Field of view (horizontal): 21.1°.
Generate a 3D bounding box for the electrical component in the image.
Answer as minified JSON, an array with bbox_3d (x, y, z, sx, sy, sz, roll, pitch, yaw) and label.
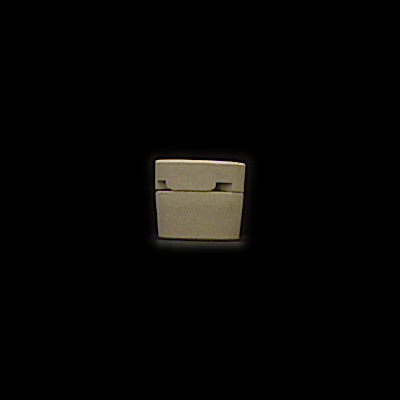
[{"bbox_3d":[0.000,0.000,0.651,0.055,0.047,0.055,1,1,0],"label":"electrical component"}]
